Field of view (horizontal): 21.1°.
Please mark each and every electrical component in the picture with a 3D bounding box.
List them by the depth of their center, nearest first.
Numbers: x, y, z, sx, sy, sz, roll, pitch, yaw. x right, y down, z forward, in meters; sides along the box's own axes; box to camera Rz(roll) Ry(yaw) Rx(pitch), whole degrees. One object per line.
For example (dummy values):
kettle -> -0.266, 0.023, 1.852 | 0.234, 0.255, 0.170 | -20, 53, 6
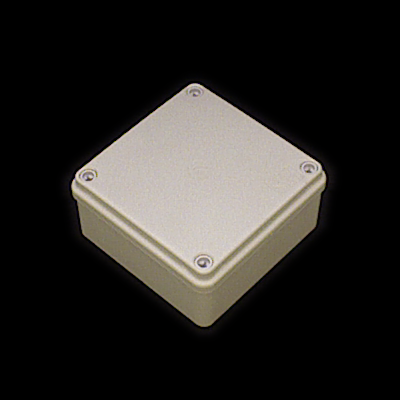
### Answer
electrical component -> 0.000, 0.000, 0.630 | 0.108, 0.056, 0.109 | 36, 60, 24
